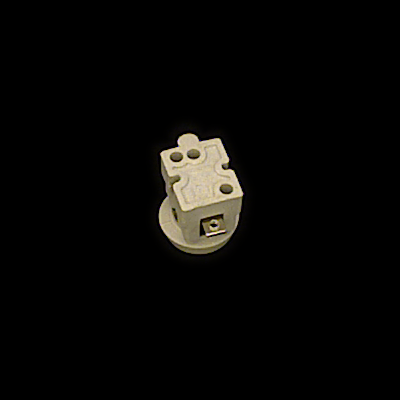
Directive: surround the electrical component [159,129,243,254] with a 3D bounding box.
[{"bbox_3d":[0.000,0.000,0.638,0.048,0.066,0.055,-14,-35,-12],"label":"electrical component"}]
